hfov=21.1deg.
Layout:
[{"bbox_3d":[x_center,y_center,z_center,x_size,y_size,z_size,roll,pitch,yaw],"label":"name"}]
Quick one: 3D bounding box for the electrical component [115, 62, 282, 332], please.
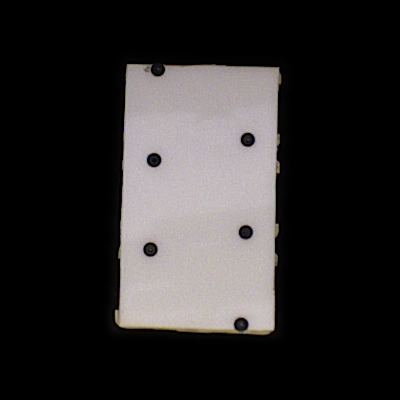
[{"bbox_3d":[0.000,0.000,0.630,0.089,0.150,0.061,2,-6,1],"label":"electrical component"}]
